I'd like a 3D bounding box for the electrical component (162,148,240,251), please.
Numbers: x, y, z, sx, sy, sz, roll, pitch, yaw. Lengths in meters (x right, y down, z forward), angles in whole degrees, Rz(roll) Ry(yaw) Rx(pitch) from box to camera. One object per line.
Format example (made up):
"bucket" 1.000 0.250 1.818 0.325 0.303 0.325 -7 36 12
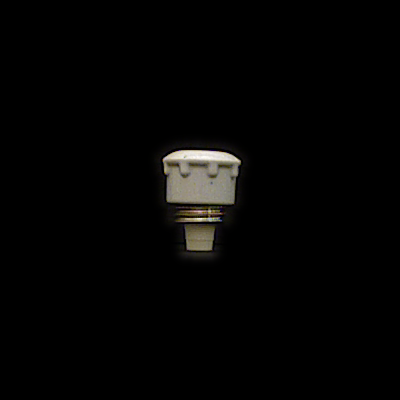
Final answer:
"electrical component" 0.000 0.000 0.659 0.048 0.062 0.048 1 2 1
